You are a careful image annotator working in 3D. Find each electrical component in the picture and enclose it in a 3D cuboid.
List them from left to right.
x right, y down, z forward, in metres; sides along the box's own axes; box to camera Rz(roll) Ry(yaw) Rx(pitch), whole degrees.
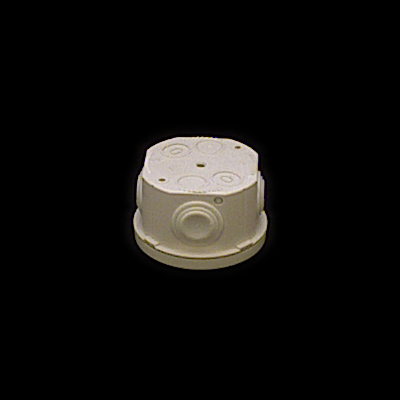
[{"bbox_3d":[0.000,0.000,0.636,0.080,0.051,0.079,1,32,0],"label":"electrical component"}]
